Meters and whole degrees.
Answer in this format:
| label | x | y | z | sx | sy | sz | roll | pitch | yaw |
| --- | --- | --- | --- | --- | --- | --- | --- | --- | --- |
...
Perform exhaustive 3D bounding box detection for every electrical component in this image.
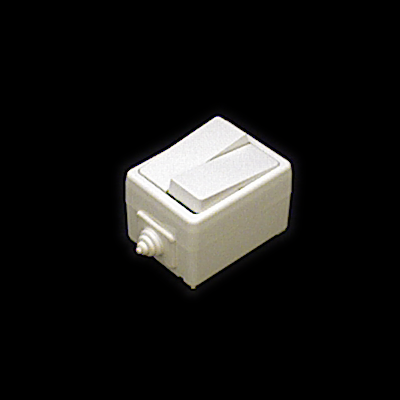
| label | x | y | z | sx | sy | sz | roll | pitch | yaw |
| --- | --- | --- | --- | --- | --- | --- | --- | --- | --- |
| electrical component | 0.000 | 0.000 | 0.629 | 0.096 | 0.061 | 0.061 | -30 | 50 | -30 |
